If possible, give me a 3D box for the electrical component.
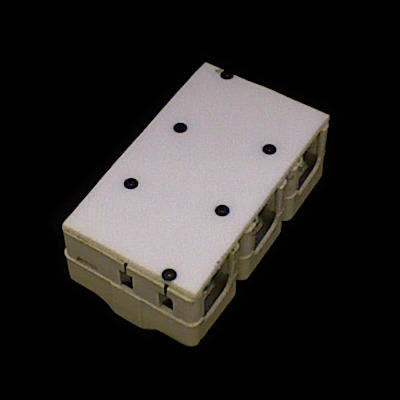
[{"bbox_3d":[0.000,0.000,0.631,0.089,0.149,0.062,27,-33,19],"label":"electrical component"}]
